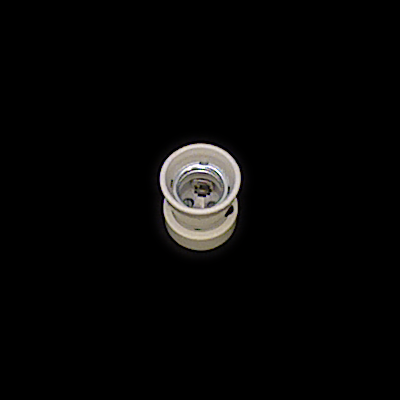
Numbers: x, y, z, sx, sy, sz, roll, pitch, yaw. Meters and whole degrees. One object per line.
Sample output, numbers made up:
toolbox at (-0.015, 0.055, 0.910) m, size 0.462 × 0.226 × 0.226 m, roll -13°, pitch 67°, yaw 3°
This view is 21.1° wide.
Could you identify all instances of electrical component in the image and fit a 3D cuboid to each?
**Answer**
electrical component at (0.000, 0.000, 0.628) m, size 0.045 × 0.045 × 0.055 m, roll 0°, pitch -28°, yaw -1°
